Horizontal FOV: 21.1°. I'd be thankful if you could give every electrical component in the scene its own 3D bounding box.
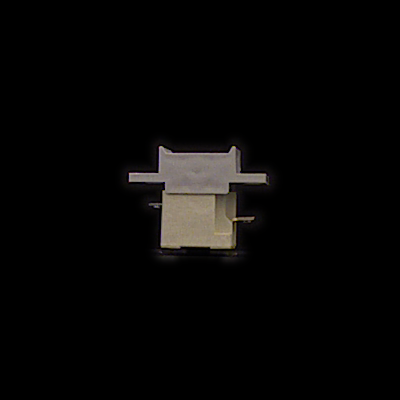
[{"bbox_3d":[0.000,0.000,0.650,0.081,0.063,0.042,1,0,7],"label":"electrical component"}]
